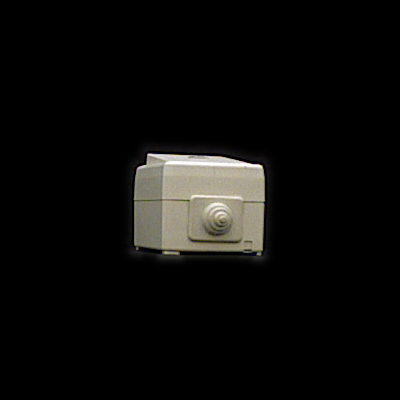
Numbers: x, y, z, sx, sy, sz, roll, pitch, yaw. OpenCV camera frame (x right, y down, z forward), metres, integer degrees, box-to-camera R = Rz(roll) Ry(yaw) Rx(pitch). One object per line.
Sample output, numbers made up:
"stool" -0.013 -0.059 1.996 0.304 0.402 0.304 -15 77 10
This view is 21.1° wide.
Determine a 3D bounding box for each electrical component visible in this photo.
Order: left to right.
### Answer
"electrical component" 0.000 0.000 0.647 0.062 0.061 0.096 1 0 -16
